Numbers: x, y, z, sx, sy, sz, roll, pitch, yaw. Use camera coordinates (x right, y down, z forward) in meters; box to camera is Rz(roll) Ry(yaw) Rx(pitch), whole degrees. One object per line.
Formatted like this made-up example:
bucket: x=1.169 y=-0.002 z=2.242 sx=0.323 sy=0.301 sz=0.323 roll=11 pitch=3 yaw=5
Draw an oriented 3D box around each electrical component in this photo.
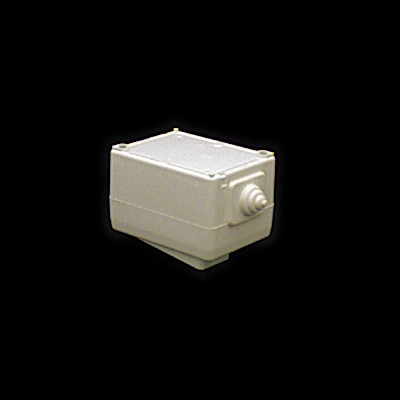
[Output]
electrical component: x=0.000 y=0.000 z=0.636 sx=0.096 sy=0.061 sz=0.061 roll=17 pitch=25 yaw=37
